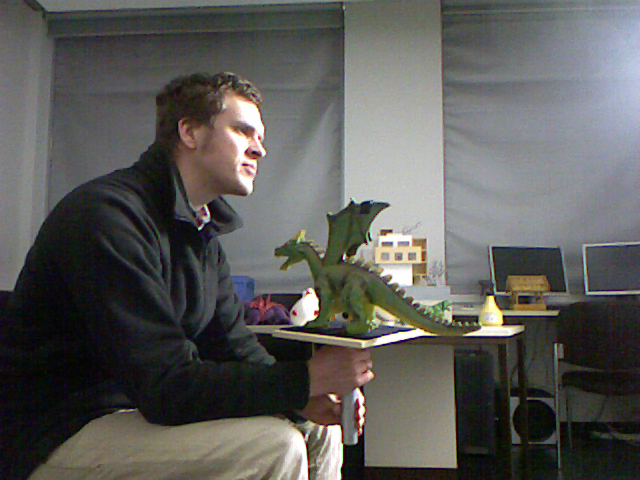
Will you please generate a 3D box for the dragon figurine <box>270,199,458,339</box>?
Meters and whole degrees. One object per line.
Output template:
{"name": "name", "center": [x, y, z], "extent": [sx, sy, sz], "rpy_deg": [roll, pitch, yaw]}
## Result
{"name": "dragon figurine", "center": [0.065, 0.044, 0.948], "extent": [0.409, 0.243, 0.122], "rpy_deg": [-3, -2, 40]}
